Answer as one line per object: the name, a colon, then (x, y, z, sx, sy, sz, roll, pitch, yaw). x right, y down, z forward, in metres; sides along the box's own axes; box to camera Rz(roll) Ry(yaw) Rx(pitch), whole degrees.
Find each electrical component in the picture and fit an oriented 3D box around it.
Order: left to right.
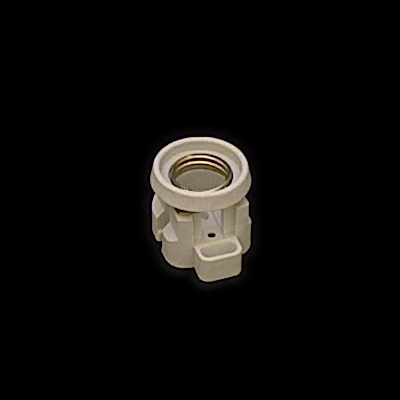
electrical component: (0.000, 0.000, 0.632, 0.058, 0.057, 0.077, -13, 44, -15)
